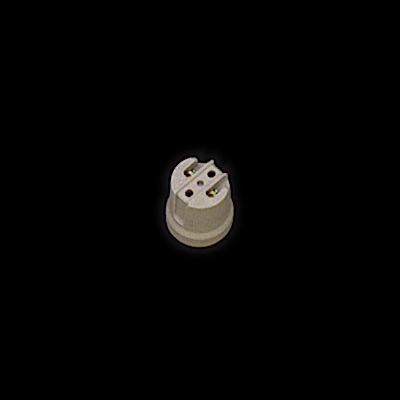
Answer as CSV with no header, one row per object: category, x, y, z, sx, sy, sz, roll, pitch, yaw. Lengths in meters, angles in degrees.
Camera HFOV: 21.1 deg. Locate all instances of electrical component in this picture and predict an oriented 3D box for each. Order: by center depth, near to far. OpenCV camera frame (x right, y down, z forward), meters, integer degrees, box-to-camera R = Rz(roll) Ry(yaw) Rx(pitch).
electrical component,0.000,0.000,0.633,0.040,0.040,0.046,0,-26,0
